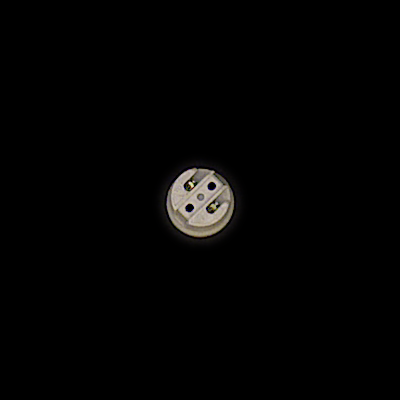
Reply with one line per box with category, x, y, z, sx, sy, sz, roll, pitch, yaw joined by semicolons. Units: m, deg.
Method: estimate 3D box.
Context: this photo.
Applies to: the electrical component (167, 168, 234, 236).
electrical component;0.000;0.000;0.634;0.040;0.040;0.046;0;-6;0
